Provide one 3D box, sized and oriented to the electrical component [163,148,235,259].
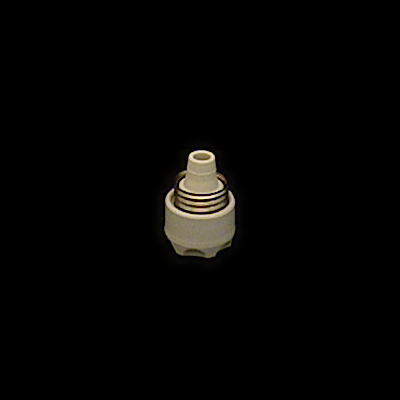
[{"bbox_3d":[0.000,0.000,0.642,0.043,0.063,0.043,2,31,0],"label":"electrical component"}]
